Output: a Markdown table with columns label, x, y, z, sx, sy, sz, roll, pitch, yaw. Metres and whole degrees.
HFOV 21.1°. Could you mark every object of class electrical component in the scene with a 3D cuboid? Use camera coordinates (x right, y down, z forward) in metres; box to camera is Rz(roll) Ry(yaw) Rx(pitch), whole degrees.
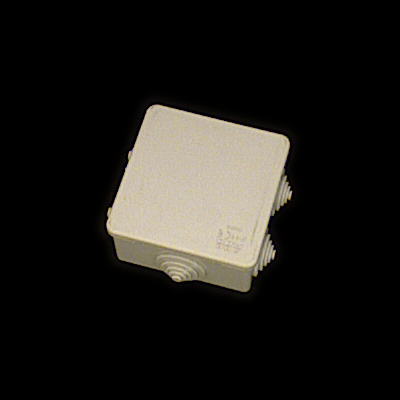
| label | x | y | z | sx | sy | sz | roll | pitch | yaw |
| --- | --- | --- | --- | --- | --- | --- | --- | --- | --- |
| electrical component | 0.000 | 0.000 | 0.639 | 0.099 | 0.100 | 0.048 | 14 | -26 | 7 |
